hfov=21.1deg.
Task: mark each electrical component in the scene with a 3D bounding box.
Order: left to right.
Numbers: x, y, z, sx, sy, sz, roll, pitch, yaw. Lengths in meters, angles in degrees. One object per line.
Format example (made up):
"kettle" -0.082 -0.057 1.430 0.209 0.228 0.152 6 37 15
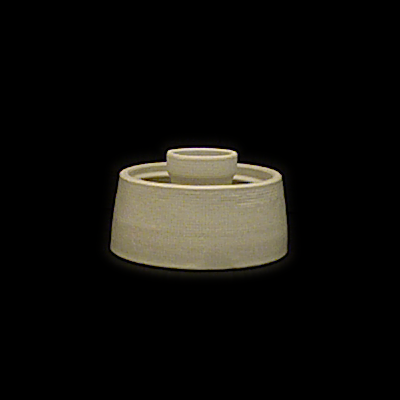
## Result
"electrical component" 0.000 0.000 0.650 0.108 0.061 0.107 1 11 0
